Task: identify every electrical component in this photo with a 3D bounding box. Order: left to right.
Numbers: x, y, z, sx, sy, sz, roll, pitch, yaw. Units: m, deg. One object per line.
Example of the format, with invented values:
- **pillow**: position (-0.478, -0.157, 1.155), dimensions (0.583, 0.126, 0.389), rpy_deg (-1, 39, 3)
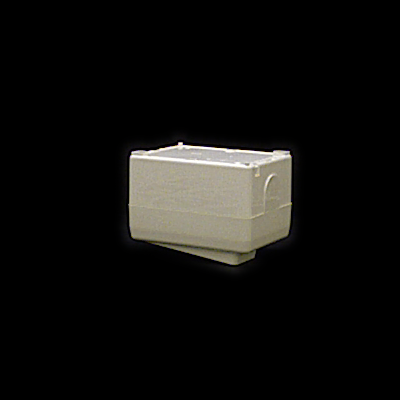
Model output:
- **electrical component**: position (0.000, 0.000, 0.646), dimensions (0.095, 0.061, 0.062), rpy_deg (7, 13, 27)
